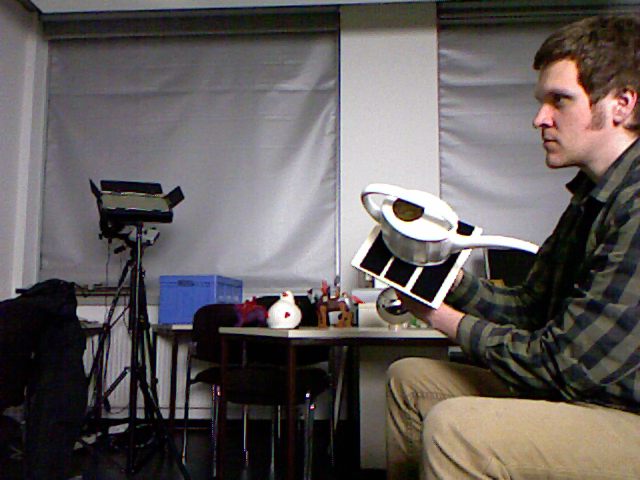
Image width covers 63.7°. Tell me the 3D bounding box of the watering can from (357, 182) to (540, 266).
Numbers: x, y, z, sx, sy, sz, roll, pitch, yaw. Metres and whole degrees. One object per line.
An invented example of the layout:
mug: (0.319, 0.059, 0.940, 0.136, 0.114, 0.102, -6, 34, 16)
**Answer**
watering can: (0.231, -0.012, 1.013, 0.350, 0.106, 0.221, 24, -20, 16)
